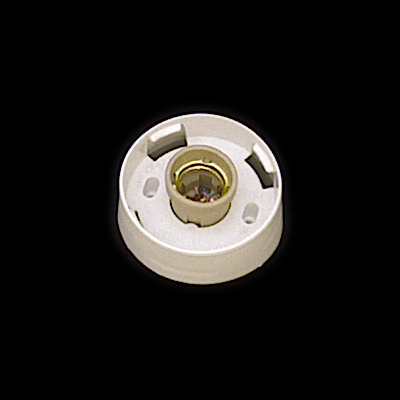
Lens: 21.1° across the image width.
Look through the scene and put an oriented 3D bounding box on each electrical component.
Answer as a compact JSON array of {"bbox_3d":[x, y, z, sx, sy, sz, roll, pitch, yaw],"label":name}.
[{"bbox_3d":[0.000,0.000,0.625,0.099,0.099,0.064,0,-28,0],"label":"electrical component"}]
